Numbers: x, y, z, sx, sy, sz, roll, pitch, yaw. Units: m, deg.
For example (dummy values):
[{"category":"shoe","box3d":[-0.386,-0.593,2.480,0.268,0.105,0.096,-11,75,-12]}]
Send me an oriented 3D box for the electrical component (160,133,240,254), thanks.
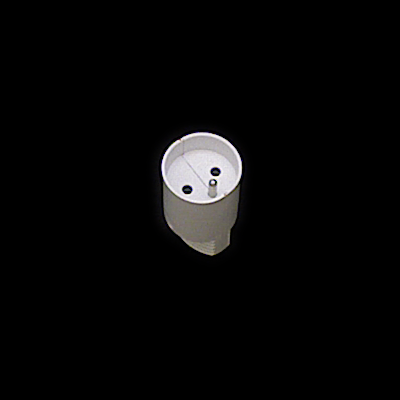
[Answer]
[{"category":"electrical component","box3d":[0.000,0.000,0.616,0.043,0.043,0.081,0,-27,0]}]
